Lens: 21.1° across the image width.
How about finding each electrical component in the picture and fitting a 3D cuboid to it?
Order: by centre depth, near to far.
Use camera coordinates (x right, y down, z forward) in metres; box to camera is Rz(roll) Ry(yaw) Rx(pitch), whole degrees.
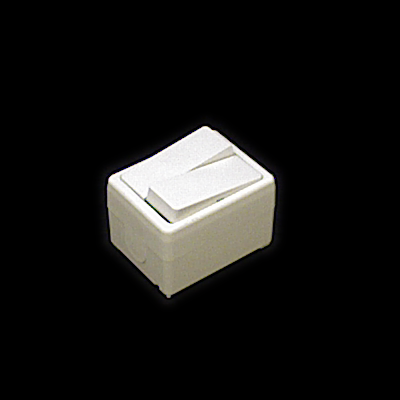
[{"bbox_3d":[0.000,0.000,0.632,0.096,0.061,0.061,-26,48,-27],"label":"electrical component"}]
